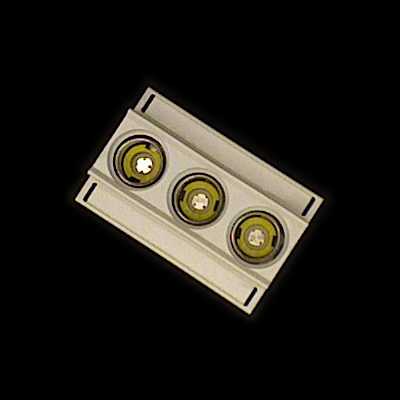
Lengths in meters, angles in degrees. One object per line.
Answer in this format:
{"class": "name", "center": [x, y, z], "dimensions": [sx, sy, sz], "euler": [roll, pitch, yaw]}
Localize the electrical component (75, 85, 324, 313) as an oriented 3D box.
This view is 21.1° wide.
{"class": "electrical component", "center": [0.000, 0.000, 0.637], "dimensions": [0.121, 0.079, 0.063], "euler": [33, -3, 4]}
